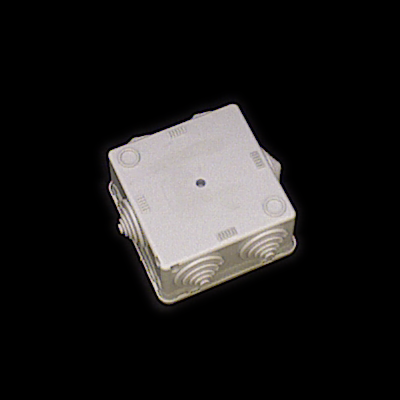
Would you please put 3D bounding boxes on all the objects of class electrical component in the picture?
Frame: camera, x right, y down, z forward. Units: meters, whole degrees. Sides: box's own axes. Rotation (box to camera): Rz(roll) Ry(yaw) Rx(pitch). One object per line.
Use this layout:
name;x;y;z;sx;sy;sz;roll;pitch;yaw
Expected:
electrical component;0.000;0.000;0.631;0.100;0.099;0.048;-22;-25;-11
